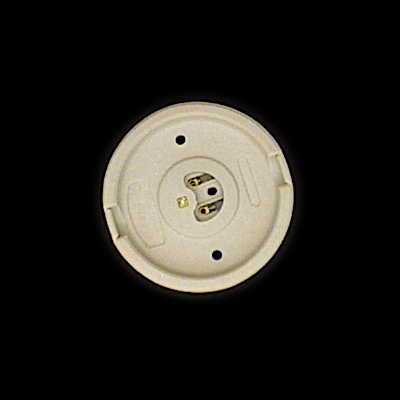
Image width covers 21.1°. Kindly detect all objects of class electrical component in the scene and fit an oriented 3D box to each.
[{"bbox_3d":[0.000,0.000,0.634,0.108,0.108,0.060,0,-6,0],"label":"electrical component"}]
